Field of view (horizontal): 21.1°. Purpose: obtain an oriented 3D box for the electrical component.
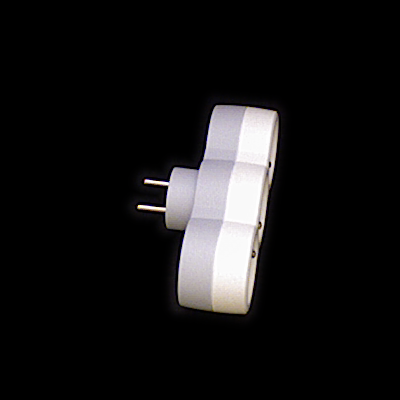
[{"bbox_3d":[0.000,0.000,0.629,0.073,0.138,0.052,7,-36,7],"label":"electrical component"}]
